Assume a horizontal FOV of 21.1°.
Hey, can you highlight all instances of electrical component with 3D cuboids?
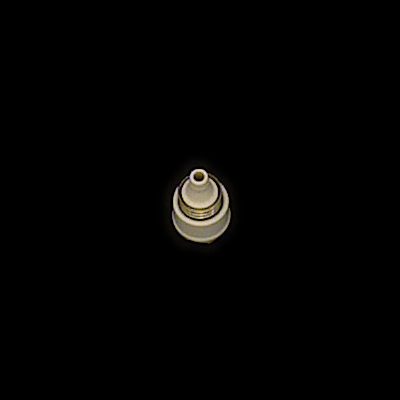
[{"bbox_3d":[0.000,0.000,0.637,0.035,0.035,0.061,0,-28,2],"label":"electrical component"}]
